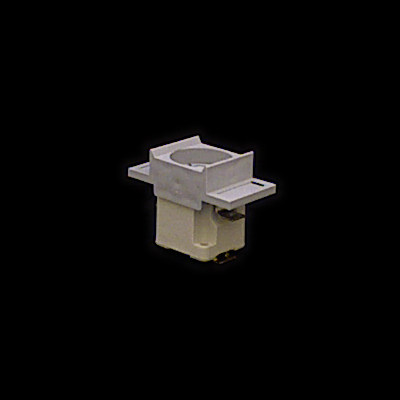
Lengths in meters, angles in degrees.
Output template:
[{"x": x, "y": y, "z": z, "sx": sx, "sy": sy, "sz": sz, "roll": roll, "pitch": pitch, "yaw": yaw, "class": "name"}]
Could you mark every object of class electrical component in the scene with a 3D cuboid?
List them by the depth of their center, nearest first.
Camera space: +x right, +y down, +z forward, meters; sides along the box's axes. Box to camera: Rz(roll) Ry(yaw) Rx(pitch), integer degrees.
[{"x": 0.000, "y": 0.000, "z": 0.639, "sx": 0.080, "sy": 0.064, "sz": 0.042, "roll": 19, "pitch": 29, "yaw": 38, "class": "electrical component"}]
